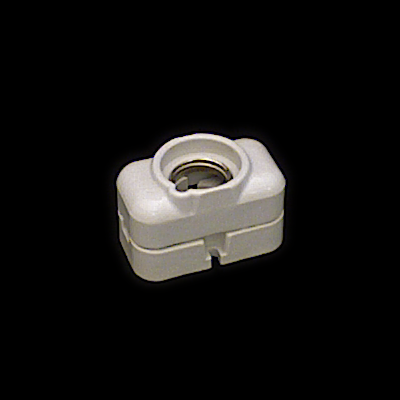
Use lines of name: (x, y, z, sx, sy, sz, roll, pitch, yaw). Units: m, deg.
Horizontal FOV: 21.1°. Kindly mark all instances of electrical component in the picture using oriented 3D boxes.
electrical component: (0.000, 0.000, 0.637, 0.095, 0.060, 0.053, -14, 44, -15)
